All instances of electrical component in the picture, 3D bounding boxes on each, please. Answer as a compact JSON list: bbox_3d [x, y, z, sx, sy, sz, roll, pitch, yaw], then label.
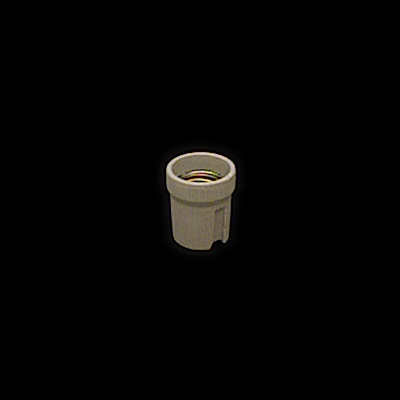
[{"bbox_3d":[0.000,0.000,0.638,0.040,0.047,0.039,1,31,0],"label":"electrical component"}]
